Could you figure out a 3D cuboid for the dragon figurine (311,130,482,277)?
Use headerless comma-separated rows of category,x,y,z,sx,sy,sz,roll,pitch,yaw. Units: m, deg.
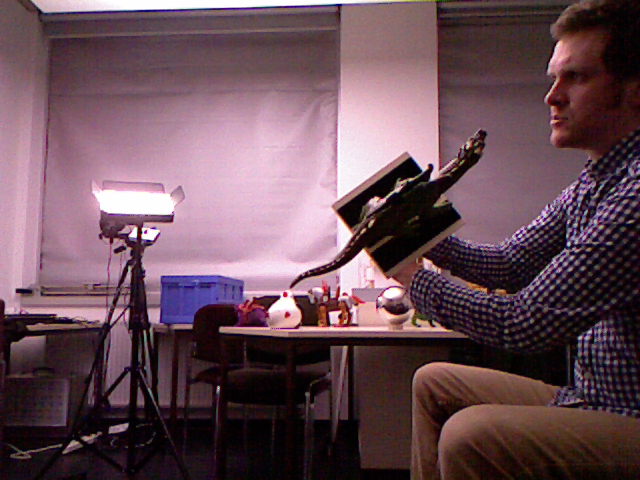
dragon figurine,0.145,-0.062,0.968,0.413,0.124,0.241,-38,-13,-6
